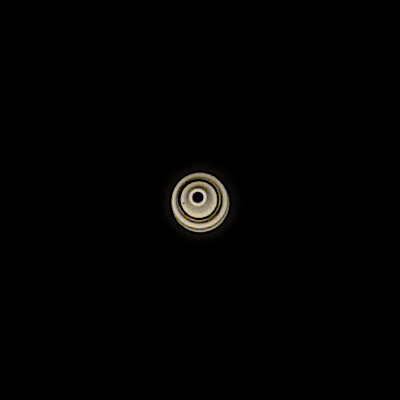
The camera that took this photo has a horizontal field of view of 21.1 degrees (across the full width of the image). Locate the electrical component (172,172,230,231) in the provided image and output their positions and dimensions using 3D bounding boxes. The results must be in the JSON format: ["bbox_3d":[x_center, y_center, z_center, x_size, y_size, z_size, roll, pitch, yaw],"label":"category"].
[{"bbox_3d":[0.000,0.000,0.637,0.035,0.035,0.061,0,-4,2],"label":"electrical component"}]
